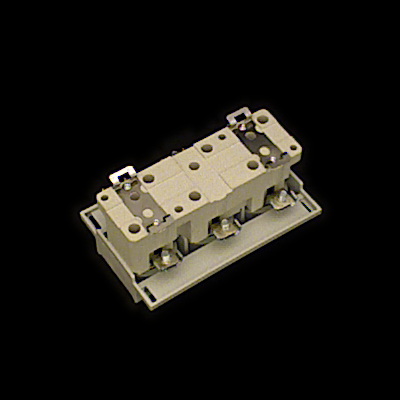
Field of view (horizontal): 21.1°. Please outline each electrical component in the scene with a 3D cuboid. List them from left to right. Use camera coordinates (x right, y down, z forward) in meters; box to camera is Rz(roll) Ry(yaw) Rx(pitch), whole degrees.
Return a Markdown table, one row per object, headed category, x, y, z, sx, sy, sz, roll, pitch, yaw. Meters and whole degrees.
| category | x | y | z | sx | sy | sz | roll | pitch | yaw |
| --- | --- | --- | --- | --- | --- | --- | --- | --- | --- |
| electrical component | 0.000 | 0.000 | 0.634 | 0.122 | 0.078 | 0.063 | -29 | -31 | -20 |
